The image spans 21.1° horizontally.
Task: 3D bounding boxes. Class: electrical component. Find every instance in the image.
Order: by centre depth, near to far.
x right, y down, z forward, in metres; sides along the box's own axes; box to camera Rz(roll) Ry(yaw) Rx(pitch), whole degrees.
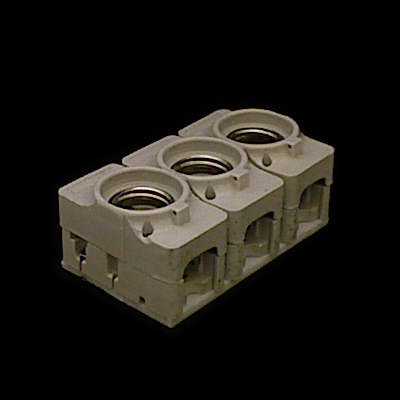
[{"bbox_3d":[0.000,0.000,0.640,0.088,0.063,0.148,25,39,33],"label":"electrical component"}]
